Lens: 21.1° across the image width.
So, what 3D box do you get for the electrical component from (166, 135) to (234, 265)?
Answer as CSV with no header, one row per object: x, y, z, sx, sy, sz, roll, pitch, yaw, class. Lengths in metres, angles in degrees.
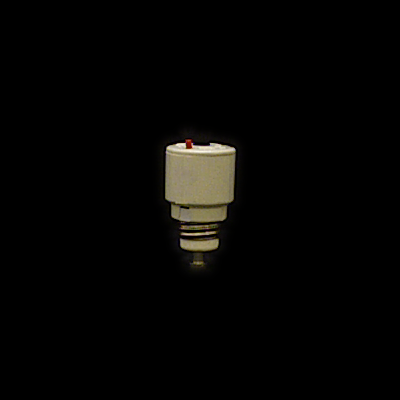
0.000,0.000,0.640,0.040,0.079,0.040,1,12,0,electrical component
